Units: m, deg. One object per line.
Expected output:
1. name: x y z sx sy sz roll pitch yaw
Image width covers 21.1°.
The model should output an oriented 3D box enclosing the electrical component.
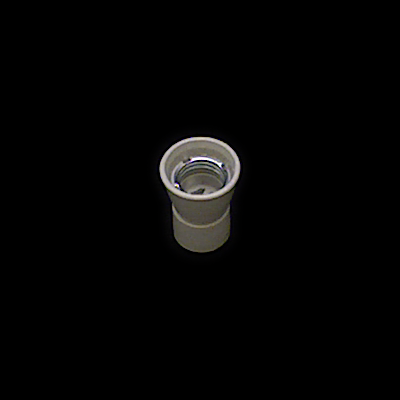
1. electrical component: 0.000 0.000 0.625 0.044 0.044 0.065 0 -37 1
